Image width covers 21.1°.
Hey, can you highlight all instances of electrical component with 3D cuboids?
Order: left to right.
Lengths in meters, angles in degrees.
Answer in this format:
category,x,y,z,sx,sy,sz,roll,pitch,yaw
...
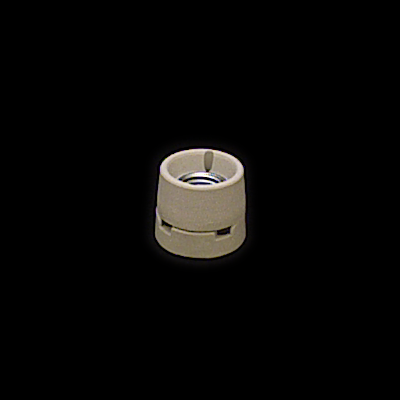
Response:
category,x,y,z,sx,sy,sz,roll,pitch,yaw
electrical component,0.000,0.000,0.639,0.055,0.047,0.055,1,31,-1
